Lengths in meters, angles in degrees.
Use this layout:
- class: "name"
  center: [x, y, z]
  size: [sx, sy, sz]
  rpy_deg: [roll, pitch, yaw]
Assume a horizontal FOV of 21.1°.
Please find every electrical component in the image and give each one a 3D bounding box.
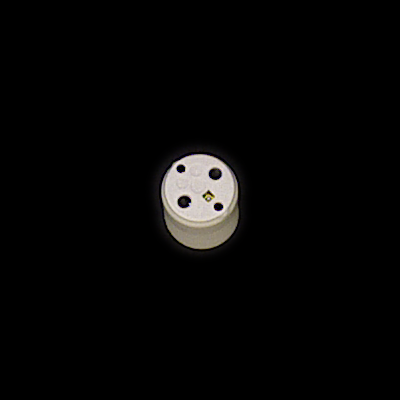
- class: "electrical component"
  center: [0.000, 0.000, 0.628]
  size: [0.045, 0.045, 0.055]
  rpy_deg: [0, -17, 1]
